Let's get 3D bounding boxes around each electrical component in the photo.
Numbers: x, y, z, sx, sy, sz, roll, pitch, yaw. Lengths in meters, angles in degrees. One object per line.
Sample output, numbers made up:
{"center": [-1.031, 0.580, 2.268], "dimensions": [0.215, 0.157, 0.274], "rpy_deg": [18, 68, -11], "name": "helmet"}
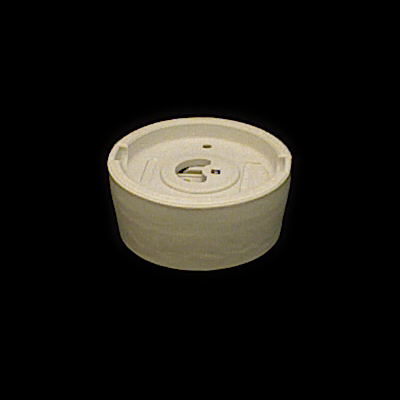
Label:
{"center": [0.000, 0.000, 0.643], "dimensions": [0.108, 0.061, 0.106], "rpy_deg": [1, 32, 0], "name": "electrical component"}
